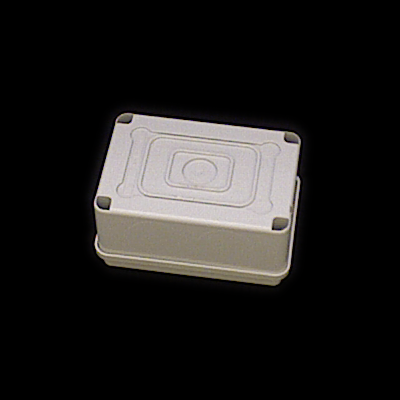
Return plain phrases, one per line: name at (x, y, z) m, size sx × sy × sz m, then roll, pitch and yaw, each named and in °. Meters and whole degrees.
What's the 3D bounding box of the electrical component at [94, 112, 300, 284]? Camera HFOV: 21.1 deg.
electrical component at (0.000, 0.000, 0.629) m, size 0.113 × 0.078 × 0.057 m, roll 7°, pitch -37°, yaw 5°
